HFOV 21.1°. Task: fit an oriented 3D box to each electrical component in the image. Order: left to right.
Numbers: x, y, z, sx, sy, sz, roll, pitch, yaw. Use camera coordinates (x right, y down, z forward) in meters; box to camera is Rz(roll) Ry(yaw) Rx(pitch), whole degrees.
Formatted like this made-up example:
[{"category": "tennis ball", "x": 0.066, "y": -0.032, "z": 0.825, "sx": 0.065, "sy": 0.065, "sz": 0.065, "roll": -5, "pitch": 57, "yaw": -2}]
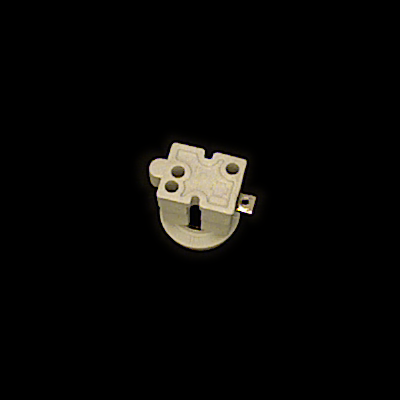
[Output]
[{"category": "electrical component", "x": 0.000, "y": 0.000, "z": 0.637, "sx": 0.066, "sy": 0.048, "sz": 0.055, "roll": 14, "pitch": -27, "yaw": 6}]
